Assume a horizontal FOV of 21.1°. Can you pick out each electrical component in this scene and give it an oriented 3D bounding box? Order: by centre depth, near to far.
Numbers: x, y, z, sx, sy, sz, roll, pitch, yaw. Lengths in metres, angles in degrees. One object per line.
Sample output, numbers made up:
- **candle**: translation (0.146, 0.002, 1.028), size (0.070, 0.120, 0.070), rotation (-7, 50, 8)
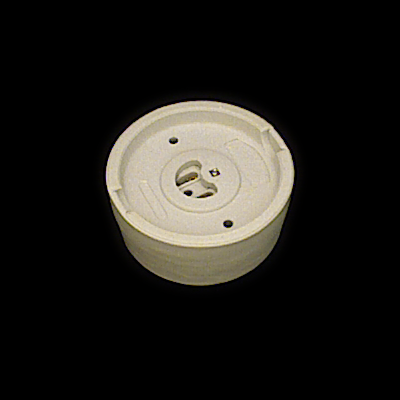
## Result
- **electrical component**: translation (0.000, 0.000, 0.638), size (0.108, 0.107, 0.061), rotation (0, -37, 0)
